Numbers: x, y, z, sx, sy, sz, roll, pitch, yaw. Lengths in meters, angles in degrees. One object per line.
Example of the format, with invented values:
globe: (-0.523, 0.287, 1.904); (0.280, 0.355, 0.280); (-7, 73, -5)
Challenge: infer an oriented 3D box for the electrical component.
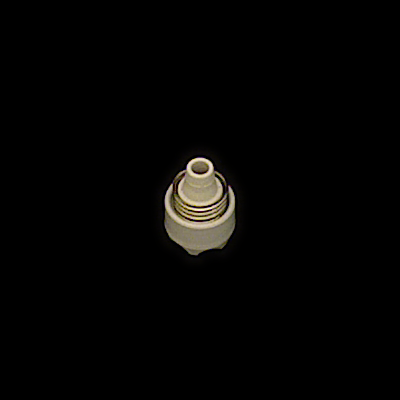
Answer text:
electrical component: (0.000, 0.000, 0.636); (0.043, 0.043, 0.062); (0, -38, -1)
